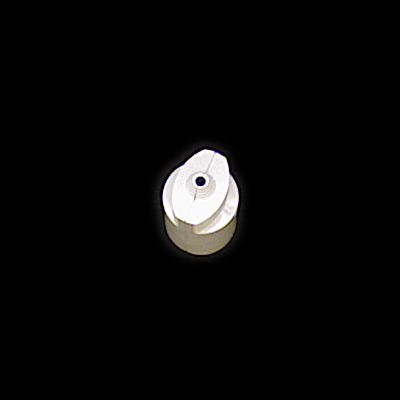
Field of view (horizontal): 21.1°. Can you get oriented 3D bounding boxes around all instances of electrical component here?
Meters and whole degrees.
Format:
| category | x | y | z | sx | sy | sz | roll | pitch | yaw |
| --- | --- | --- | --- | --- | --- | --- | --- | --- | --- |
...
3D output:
| category | x | y | z | sx | sy | sz | roll | pitch | yaw |
| --- | --- | --- | --- | --- | --- | --- | --- | --- | --- |
| electrical component | 0.000 | 0.000 | 0.616 | 0.043 | 0.043 | 0.080 | 0 | -17 | 0 |
